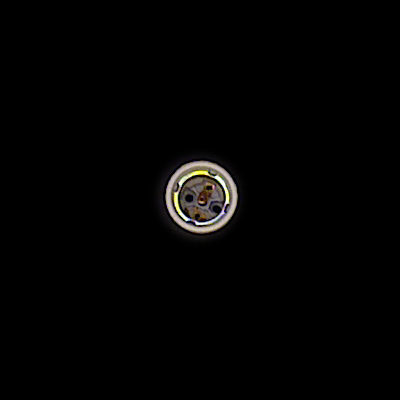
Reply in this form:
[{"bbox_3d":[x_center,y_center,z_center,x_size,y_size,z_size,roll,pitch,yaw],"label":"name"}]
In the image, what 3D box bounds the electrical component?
[{"bbox_3d":[0.000,0.000,0.627,0.040,0.040,0.046,0,-6,0],"label":"electrical component"}]
